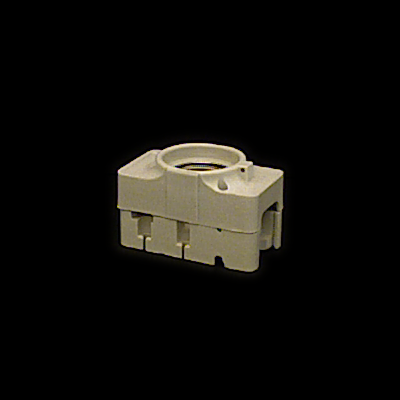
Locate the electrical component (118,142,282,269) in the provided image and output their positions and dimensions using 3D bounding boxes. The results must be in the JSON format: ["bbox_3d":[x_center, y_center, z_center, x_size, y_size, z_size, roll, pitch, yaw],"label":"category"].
[{"bbox_3d":[0.000,0.000,0.646,0.089,0.056,0.050,10,24,22],"label":"electrical component"}]
